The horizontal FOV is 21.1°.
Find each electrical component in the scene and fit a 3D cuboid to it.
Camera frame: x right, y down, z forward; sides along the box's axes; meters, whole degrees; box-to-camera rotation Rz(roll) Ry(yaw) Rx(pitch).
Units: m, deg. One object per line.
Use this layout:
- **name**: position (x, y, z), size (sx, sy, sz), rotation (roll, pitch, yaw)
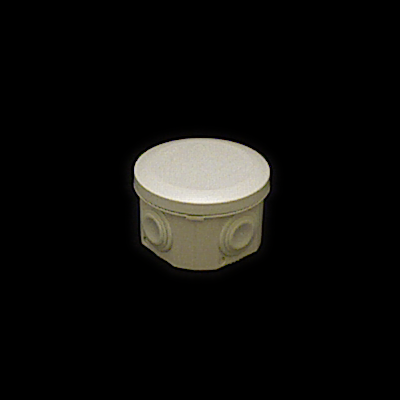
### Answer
- **electrical component**: position (0.000, 0.000, 0.638), size (0.080, 0.051, 0.079), rotation (1, 31, 0)
